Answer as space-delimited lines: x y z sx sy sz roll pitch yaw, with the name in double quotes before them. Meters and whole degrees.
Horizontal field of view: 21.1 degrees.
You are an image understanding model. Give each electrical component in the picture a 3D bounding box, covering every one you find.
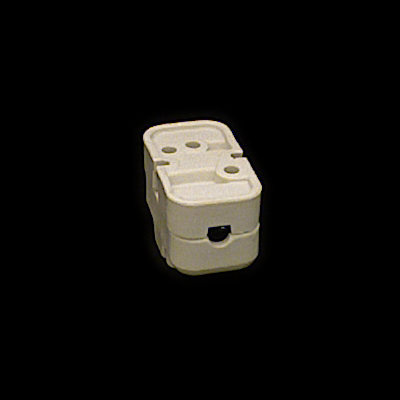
"electrical component" 0.000 0.000 0.639 0.054 0.060 0.093 -7 34 -12
